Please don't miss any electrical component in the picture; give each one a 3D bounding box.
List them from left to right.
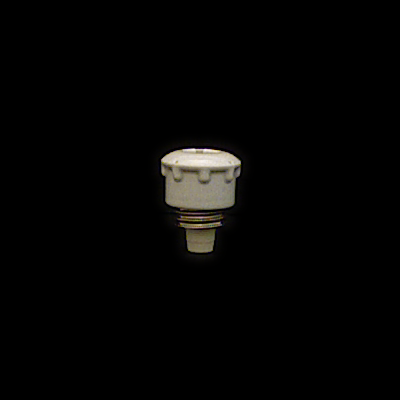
[{"bbox_3d":[0.000,0.000,0.651,0.048,0.062,0.048,1,11,0],"label":"electrical component"}]
